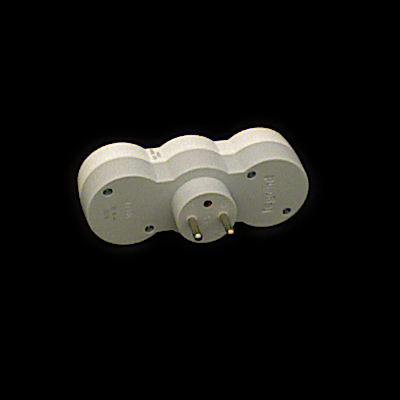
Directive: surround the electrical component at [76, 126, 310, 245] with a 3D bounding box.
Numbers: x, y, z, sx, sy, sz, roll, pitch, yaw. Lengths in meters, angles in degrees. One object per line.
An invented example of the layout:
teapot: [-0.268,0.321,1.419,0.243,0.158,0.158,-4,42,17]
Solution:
electrical component: [0.000,0.000,0.641,0.139,0.053,0.072,-7,34,-13]
